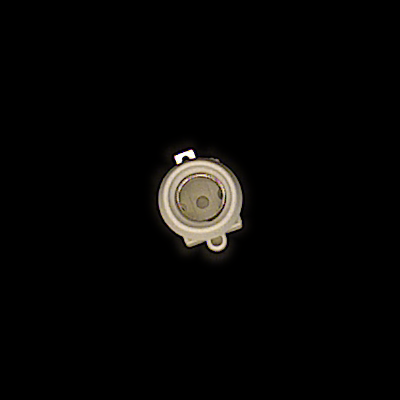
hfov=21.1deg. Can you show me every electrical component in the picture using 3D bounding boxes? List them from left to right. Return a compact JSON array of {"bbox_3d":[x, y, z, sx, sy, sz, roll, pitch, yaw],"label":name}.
[{"bbox_3d":[0.000,0.000,0.639,0.048,0.066,0.055,-21,-6,-3],"label":"electrical component"}]
